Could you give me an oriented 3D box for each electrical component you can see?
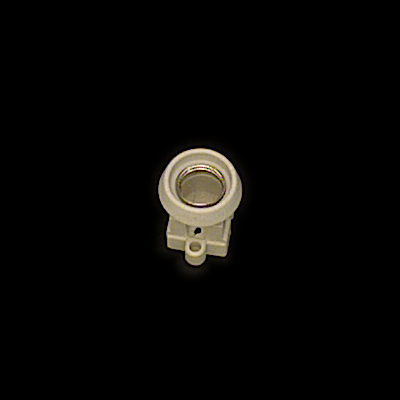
[{"bbox_3d":[0.000,0.000,0.637,0.048,0.066,0.055,8,-26,2],"label":"electrical component"}]
